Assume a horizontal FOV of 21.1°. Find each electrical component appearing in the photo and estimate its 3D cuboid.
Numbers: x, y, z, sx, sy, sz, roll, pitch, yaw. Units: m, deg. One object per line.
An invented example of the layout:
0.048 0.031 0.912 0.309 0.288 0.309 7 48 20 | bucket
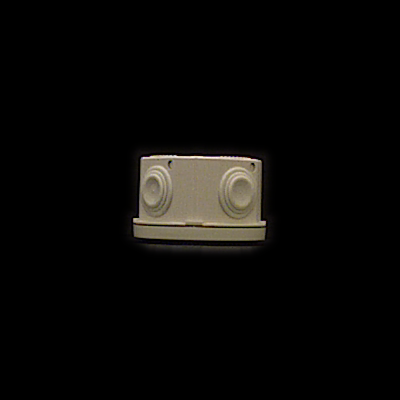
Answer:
0.000 0.000 0.648 0.080 0.051 0.080 1 1 0 | electrical component
